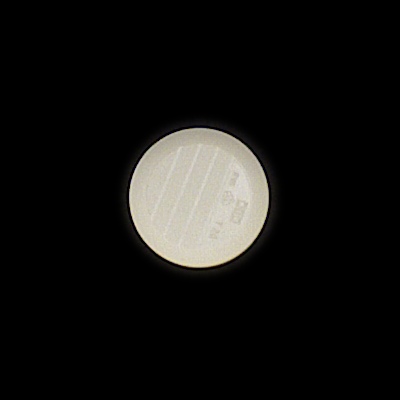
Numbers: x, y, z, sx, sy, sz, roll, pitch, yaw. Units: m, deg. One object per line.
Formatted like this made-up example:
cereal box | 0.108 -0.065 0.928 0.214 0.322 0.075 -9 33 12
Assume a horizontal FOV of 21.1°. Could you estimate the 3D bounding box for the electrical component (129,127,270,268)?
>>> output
electrical component | 0.000 0.000 0.631 0.080 0.080 0.050 0 -6 0
